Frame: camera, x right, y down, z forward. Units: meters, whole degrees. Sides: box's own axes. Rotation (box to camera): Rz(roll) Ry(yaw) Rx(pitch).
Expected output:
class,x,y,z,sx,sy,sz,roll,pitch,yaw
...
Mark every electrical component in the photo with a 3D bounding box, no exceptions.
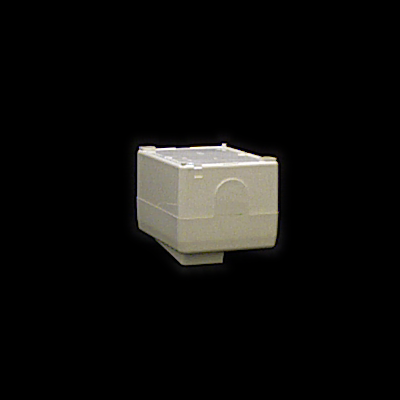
class,x,y,z,sx,sy,sz,roll,pitch,yaw
electrical component,0.000,0.000,0.650,0.062,0.061,0.095,-4,12,-22
